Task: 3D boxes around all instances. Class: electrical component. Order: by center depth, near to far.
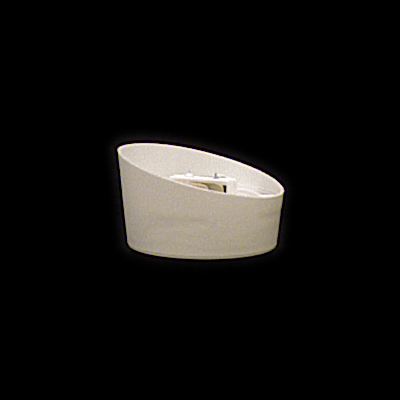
[{"bbox_3d":[0.000,0.000,0.643,0.099,0.064,0.098,0,10,0],"label":"electrical component"}]
